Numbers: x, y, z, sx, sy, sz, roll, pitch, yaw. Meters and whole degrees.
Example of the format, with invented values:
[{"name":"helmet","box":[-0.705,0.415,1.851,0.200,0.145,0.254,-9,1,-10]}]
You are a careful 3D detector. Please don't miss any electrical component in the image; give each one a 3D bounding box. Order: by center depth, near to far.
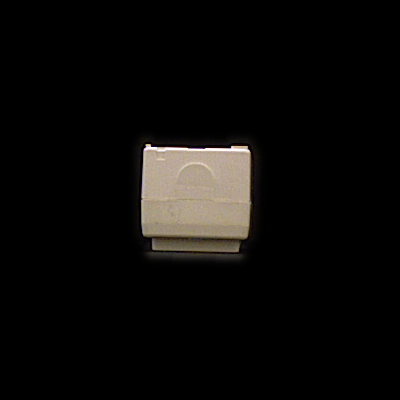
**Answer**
[{"name":"electrical component","box":[0.000,0.000,0.652,0.062,0.061,0.096,1,-1,4]}]
